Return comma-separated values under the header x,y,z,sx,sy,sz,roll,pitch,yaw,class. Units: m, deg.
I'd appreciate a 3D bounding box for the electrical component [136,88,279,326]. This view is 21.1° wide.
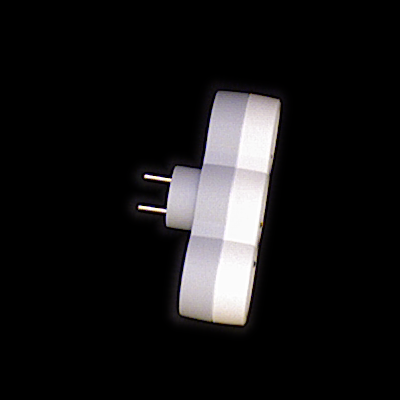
x,y,z,sx,sy,sz,roll,pitch,yaw,class
0.000,0.000,0.629,0.074,0.139,0.052,9,-16,5,electrical component
